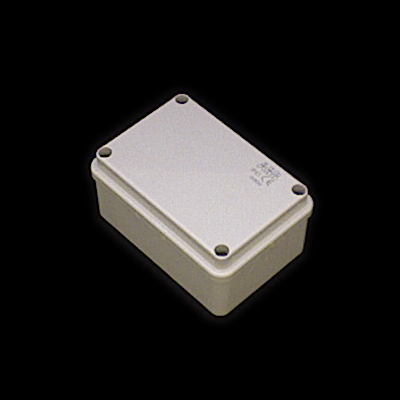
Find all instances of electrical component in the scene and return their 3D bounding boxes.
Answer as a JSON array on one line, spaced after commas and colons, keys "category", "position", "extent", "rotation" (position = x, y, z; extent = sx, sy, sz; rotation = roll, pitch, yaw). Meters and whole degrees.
[{"category": "electrical component", "position": [0.000, 0.000, 0.629], "extent": [0.078, 0.057, 0.112], "rotation": [-37, 61, -25]}]
